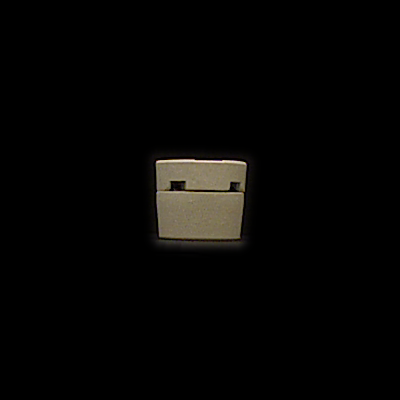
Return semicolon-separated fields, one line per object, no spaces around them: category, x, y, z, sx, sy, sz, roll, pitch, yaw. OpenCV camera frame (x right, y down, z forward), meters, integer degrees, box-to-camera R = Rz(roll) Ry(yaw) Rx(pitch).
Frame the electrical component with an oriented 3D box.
electrical component;0.000;0.000;0.651;0.055;0.047;0.055;2;1;0
